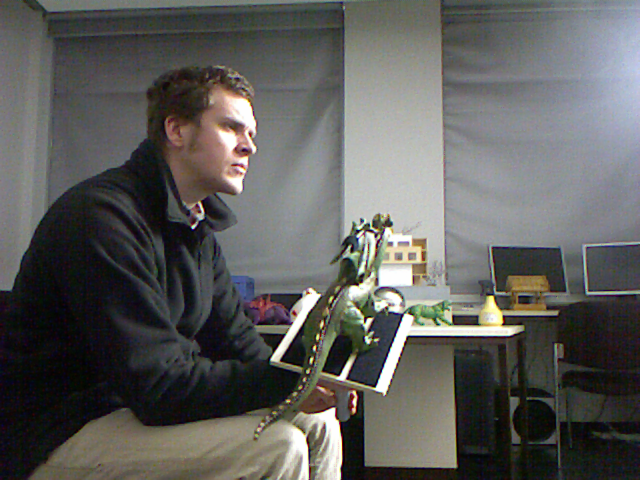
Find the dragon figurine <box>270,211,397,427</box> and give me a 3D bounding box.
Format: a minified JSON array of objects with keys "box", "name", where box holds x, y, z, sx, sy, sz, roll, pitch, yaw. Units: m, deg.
[{"box":[0.037,0.084,0.839,0.123,0.238,0.420,17,39,19],"name":"dragon figurine"}]
